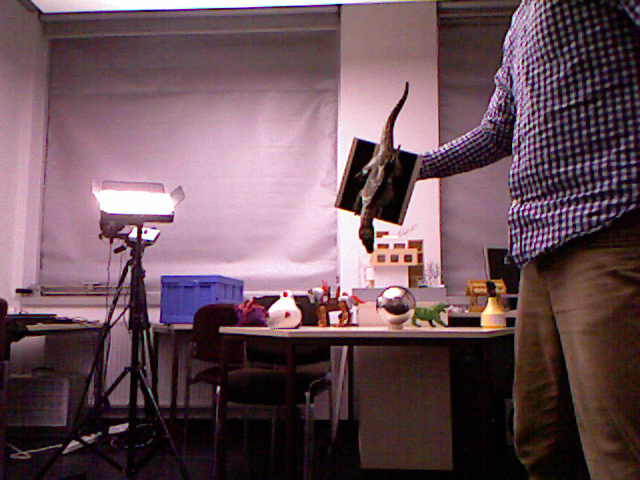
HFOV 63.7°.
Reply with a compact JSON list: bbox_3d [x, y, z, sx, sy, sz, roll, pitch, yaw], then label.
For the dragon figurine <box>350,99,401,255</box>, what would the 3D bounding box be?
[{"bbox_3d":[0.162,-0.168,1.327,0.122,0.409,0.245,11,9,-2],"label":"dragon figurine"}]
